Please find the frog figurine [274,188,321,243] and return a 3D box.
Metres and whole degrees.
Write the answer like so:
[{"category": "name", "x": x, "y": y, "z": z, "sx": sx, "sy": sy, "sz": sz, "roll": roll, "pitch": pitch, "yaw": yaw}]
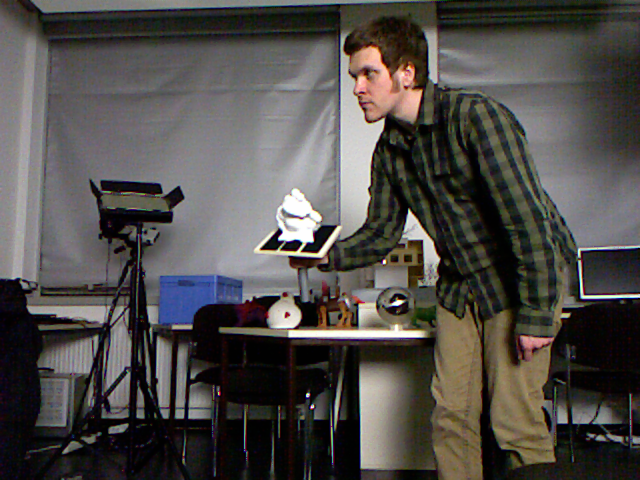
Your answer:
[{"category": "frog figurine", "x": -0.067, "y": -0.078, "z": 1.447, "sx": 0.138, "sy": 0.157, "sz": 0.125, "roll": 13, "pitch": 29, "yaw": 34}]
